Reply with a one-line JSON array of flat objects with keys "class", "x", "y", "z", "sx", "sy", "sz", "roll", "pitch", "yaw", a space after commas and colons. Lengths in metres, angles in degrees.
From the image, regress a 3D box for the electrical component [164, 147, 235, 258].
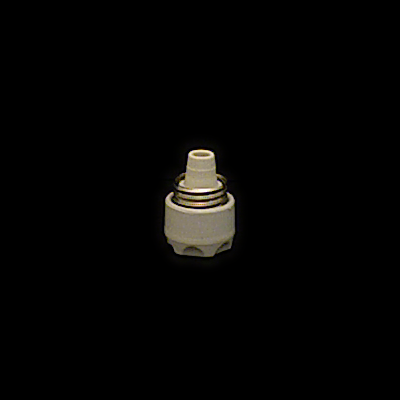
[{"class": "electrical component", "x": 0.000, "y": 0.000, "z": 0.645, "sx": 0.043, "sy": 0.063, "sz": 0.043, "roll": 1, "pitch": 23, "yaw": 0}]
